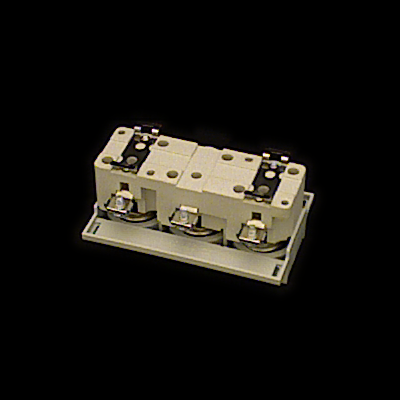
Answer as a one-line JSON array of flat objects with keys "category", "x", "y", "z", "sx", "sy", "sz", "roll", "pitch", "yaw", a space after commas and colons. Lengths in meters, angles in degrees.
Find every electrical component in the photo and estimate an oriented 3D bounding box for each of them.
[{"category": "electrical component", "x": 0.000, "y": 0.000, "z": 0.640, "sx": 0.121, "sy": 0.063, "sz": 0.078, "roll": 13, "pitch": 43, "yaw": 12}]
